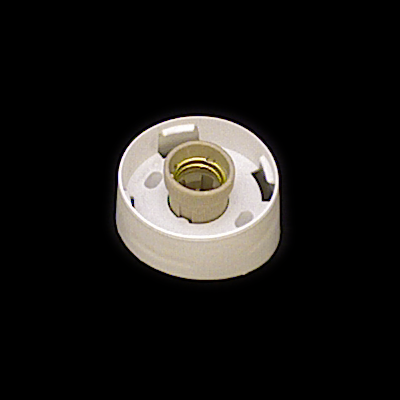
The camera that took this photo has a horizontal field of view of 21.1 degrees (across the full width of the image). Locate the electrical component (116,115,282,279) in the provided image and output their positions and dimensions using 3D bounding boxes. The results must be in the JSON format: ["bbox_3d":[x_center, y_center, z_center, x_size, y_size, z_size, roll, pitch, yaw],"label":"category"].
[{"bbox_3d":[0.000,0.000,0.626,0.099,0.098,0.064,0,-38,-1],"label":"electrical component"}]
